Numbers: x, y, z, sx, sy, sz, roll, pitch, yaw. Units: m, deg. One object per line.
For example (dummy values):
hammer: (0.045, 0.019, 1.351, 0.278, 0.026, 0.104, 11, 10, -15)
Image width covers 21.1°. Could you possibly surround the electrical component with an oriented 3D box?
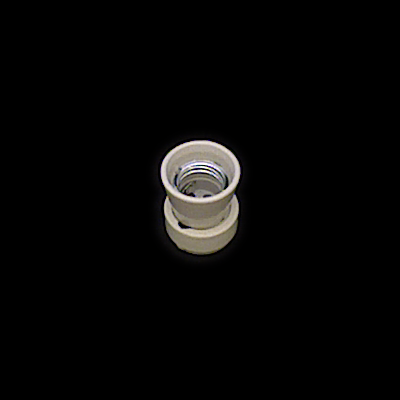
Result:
electrical component: (0.000, 0.000, 0.629, 0.045, 0.044, 0.055, 0, -38, 0)
